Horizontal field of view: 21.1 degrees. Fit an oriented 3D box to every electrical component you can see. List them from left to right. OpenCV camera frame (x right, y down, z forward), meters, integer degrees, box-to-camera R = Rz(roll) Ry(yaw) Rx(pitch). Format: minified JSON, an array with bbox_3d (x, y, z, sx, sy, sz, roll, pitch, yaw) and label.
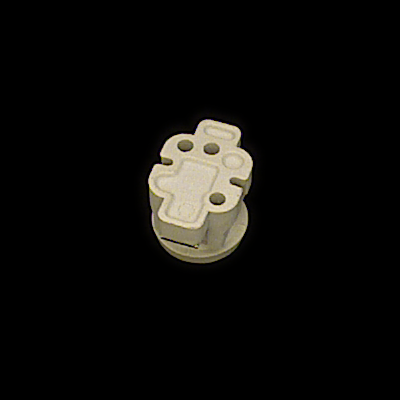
[{"bbox_3d":[0.000,0.000,0.636,0.057,0.078,0.057,15,-34,10],"label":"electrical component"}]
